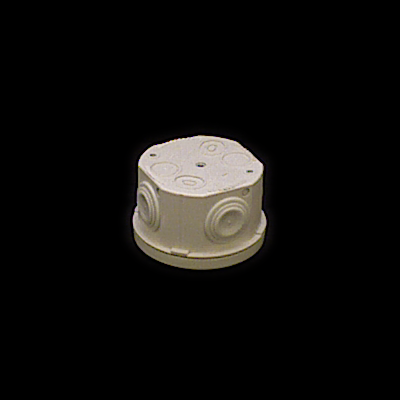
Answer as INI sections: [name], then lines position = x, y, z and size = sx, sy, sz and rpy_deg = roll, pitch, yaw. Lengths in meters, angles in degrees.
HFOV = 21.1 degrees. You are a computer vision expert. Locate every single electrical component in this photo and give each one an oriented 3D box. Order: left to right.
[electrical component]
position = 0.000, 0.000, 0.637
size = 0.080, 0.051, 0.079
rpy_deg = 1, 31, -1
